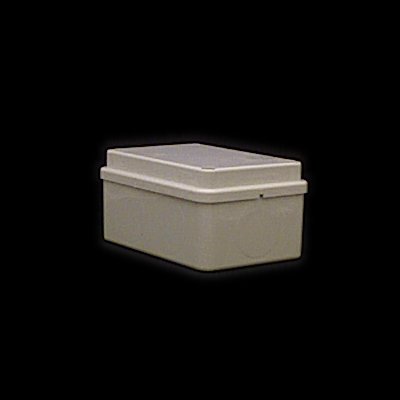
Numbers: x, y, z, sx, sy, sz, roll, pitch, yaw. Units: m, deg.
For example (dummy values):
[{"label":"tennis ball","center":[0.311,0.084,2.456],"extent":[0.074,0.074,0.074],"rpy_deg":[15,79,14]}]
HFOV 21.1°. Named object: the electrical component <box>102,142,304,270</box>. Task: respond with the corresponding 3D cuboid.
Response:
[{"label":"electrical component","center":[0.000,0.000,0.645],"extent":[0.078,0.057,0.112],"rpy_deg":[-7,13,-36]}]
